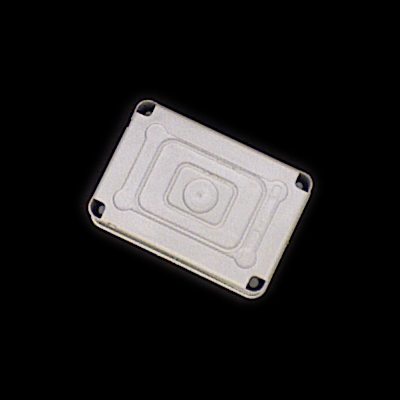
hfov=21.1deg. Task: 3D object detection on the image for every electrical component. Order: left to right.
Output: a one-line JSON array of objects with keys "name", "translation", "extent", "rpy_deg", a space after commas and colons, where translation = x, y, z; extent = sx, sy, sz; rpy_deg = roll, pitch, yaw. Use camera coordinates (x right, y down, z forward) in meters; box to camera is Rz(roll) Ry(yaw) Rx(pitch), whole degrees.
[{"name": "electrical component", "translation": [0.000, 0.000, 0.629], "extent": [0.113, 0.078, 0.057], "rpy_deg": [26, -6, 3]}]
